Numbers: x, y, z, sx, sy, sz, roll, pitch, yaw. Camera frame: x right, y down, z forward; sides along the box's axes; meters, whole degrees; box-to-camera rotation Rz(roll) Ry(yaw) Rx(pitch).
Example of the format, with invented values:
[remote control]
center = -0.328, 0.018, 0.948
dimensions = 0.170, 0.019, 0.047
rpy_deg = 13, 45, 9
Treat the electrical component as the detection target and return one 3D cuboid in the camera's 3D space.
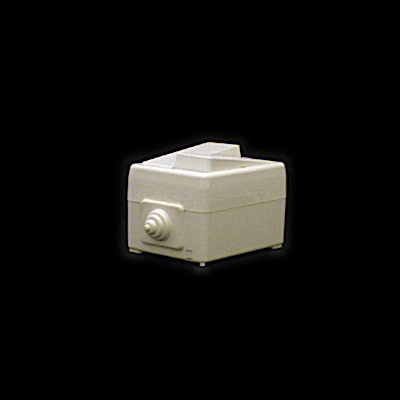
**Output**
[electrical component]
center = 0.000, 0.000, 0.642
dimensions = 0.061, 0.061, 0.096
rpy_deg = 10, 13, 39
